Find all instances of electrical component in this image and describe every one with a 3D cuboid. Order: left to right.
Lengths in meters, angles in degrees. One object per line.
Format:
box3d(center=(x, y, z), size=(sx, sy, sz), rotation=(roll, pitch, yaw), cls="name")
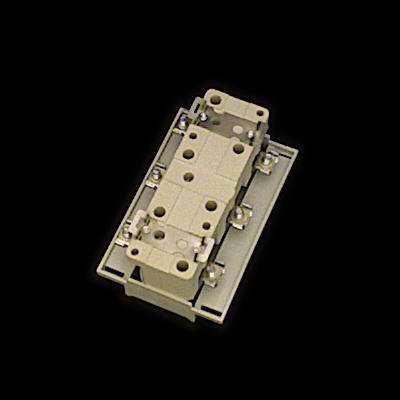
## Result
box3d(center=(0.000, 0.000, 0.633), size=(0.078, 0.122, 0.063), rotation=(21, -25, 9), cls="electrical component")
